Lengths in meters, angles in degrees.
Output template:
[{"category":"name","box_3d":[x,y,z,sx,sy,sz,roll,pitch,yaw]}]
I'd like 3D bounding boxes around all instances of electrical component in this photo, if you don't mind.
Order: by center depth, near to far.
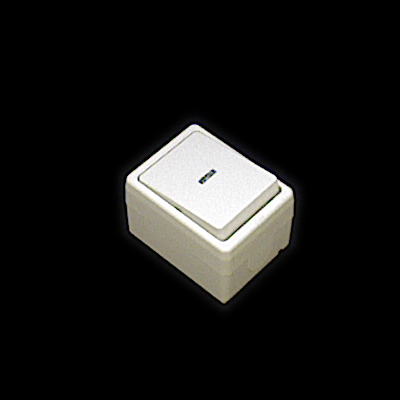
[{"category":"electrical component","box_3d":[0.000,0.000,0.629,0.096,0.061,0.062,36,60,24]}]
